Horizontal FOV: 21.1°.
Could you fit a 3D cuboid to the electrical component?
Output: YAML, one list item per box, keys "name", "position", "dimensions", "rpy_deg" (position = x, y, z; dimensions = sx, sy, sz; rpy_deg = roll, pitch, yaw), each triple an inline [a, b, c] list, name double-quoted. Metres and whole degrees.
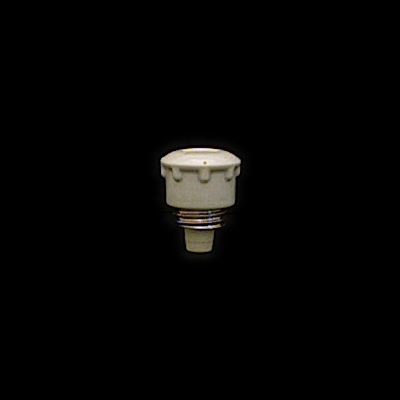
- name: "electrical component"
  position: [0.000, 0.000, 0.649]
  dimensions: [0.048, 0.062, 0.048]
  rpy_deg: [1, 11, 0]
